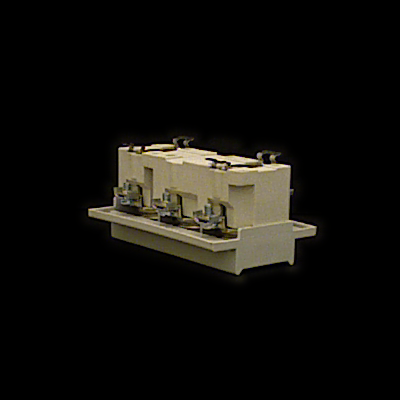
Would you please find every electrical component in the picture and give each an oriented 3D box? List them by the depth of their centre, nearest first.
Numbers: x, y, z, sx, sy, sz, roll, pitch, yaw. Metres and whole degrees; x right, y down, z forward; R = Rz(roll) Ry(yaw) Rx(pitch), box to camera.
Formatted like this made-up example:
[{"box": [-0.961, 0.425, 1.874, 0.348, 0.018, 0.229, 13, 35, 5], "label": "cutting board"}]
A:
[{"box": [0.000, 0.000, 0.648, 0.079, 0.063, 0.119, -9, 14, -39], "label": "electrical component"}]
